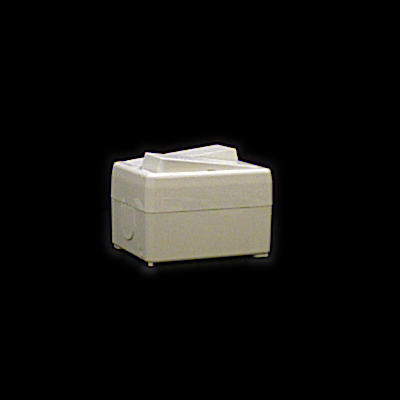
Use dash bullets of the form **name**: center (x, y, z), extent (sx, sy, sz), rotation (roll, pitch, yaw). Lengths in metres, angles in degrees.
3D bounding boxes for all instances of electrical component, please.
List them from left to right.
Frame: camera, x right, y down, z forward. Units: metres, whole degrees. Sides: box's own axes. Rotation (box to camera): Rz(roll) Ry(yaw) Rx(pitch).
- **electrical component**: center (0.000, 0.000, 0.645), extent (0.096, 0.061, 0.061), rotation (-4, 12, -25)
